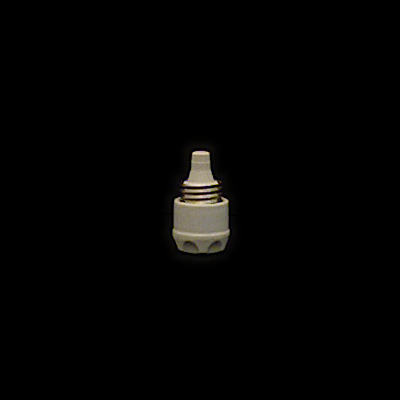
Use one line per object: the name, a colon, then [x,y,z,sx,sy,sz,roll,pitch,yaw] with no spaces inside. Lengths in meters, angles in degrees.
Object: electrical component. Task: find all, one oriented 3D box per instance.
electrical component: [0.000,0.000,0.656,0.035,0.062,0.035,-1,12,0]
